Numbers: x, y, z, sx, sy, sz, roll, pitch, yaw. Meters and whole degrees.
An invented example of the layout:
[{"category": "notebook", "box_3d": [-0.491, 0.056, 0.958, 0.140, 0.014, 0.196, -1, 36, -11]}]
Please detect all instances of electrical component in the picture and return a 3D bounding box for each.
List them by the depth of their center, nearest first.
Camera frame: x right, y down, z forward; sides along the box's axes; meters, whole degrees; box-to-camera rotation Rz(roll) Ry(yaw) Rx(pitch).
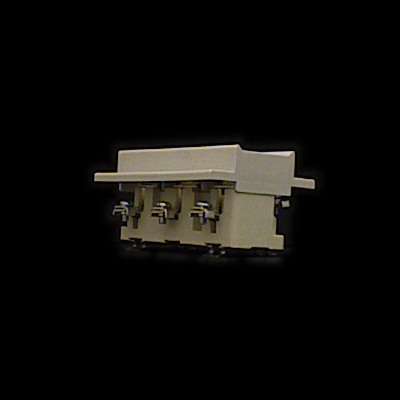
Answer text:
[{"category": "electrical component", "box_3d": [0.000, 0.000, 0.664, 0.079, 0.063, 0.121, 2, 0, -37]}]
